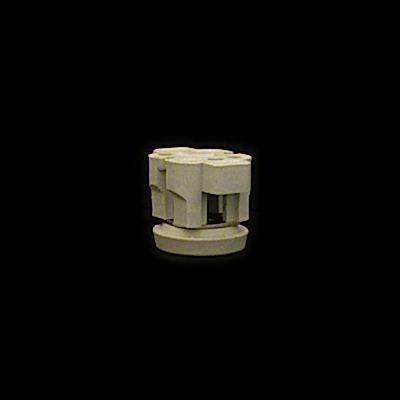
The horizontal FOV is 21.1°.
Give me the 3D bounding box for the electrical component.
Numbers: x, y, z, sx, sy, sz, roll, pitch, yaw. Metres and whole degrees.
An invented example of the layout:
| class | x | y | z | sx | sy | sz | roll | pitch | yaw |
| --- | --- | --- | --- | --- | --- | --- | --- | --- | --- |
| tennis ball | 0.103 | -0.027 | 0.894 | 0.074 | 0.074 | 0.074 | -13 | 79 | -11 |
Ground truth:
| class | x | y | z | sx | sy | sz | roll | pitch | yaw |
| --- | --- | --- | --- | --- | --- | --- | --- | --- | --- |
| electrical component | 0.000 | 0.000 | 0.652 | 0.058 | 0.057 | 0.077 | -7 | 12 | -32 |
